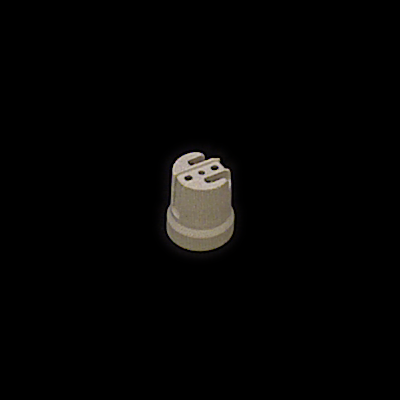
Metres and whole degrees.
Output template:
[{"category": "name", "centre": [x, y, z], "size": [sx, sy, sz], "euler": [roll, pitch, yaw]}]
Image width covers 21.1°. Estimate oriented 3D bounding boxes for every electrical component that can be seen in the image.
[{"category": "electrical component", "centre": [0.000, 0.000, 0.635], "size": [0.040, 0.046, 0.040], "euler": [0, 43, 0]}]
